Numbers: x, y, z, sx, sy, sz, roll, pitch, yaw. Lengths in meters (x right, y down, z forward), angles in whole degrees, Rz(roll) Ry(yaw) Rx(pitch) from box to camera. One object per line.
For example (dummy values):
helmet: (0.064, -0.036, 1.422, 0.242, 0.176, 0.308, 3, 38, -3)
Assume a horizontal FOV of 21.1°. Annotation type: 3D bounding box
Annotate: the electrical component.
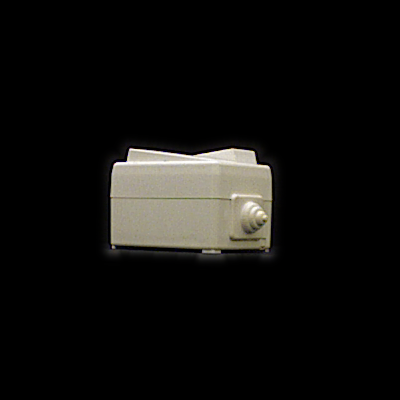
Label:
electrical component: (0.000, 0.000, 0.648, 0.096, 0.061, 0.062, 1, 0, 37)
